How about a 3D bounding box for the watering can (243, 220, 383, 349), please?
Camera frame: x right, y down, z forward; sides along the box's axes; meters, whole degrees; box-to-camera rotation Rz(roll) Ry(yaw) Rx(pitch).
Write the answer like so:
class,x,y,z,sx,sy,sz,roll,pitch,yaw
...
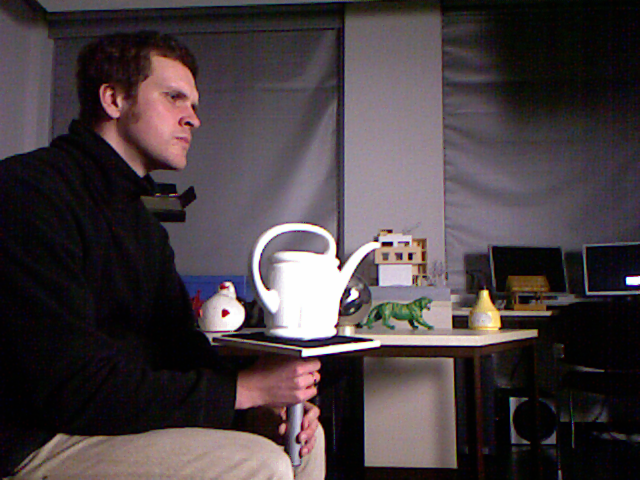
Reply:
class,x,y,z,sx,sy,sz,roll,pitch,yaw
watering can,0.003,0.080,0.906,0.104,0.224,0.347,4,0,43
